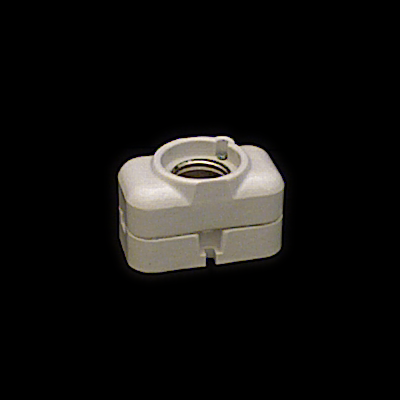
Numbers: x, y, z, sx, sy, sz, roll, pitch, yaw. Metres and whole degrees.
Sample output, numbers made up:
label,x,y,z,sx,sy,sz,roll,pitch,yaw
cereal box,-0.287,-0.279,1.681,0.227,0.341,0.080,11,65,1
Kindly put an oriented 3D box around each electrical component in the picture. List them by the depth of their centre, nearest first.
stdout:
label,x,y,z,sx,sy,sz,roll,pitch,yaw
electrical component,0.000,0.000,0.642,0.095,0.060,0.053,-7,33,-13
